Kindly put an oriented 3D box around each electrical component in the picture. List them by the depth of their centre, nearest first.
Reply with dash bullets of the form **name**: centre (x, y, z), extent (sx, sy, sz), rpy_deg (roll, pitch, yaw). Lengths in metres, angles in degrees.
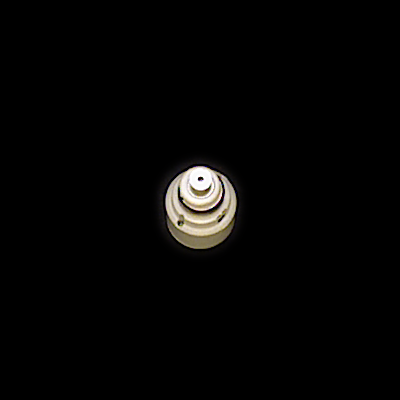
- **electrical component**: centre (0.000, 0.000, 0.617), extent (0.040, 0.040, 0.078), rpy_deg (0, -18, 0)
